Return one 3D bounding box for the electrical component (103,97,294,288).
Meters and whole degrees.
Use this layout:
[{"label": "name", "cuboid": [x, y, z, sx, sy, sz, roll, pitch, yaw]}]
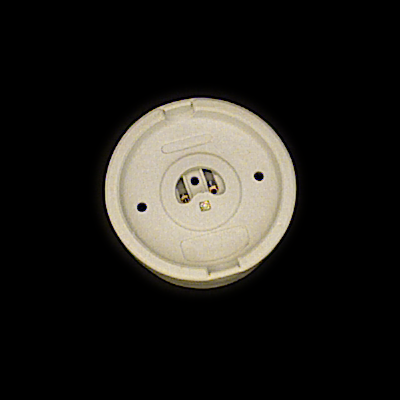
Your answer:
[{"label": "electrical component", "cuboid": [0.000, 0.000, 0.633, 0.108, 0.108, 0.060, 0, -17, 0]}]
